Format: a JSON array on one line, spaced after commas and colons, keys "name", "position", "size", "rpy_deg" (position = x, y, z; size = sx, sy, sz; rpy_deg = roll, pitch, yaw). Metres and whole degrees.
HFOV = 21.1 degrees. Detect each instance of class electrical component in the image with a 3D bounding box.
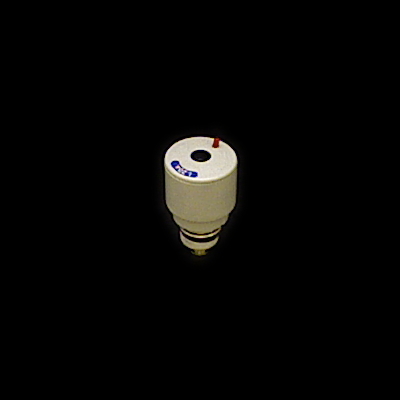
[{"name": "electrical component", "position": [0.000, 0.000, 0.625], "size": [0.040, 0.079, 0.039], "rpy_deg": [1, 41, 0]}]
